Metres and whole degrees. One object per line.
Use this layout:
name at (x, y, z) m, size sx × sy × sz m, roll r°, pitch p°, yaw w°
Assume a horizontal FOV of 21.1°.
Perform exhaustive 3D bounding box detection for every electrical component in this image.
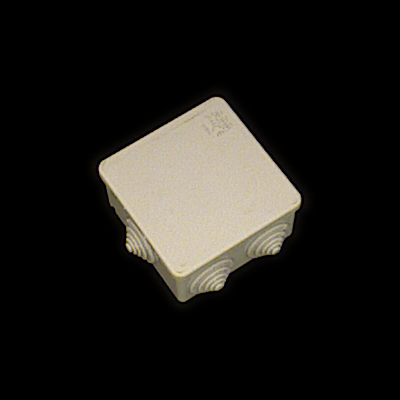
electrical component at (0.000, 0.000, 0.640) m, size 0.100 × 0.099 × 0.048 m, roll -31°, pitch -22°, yaw -15°
